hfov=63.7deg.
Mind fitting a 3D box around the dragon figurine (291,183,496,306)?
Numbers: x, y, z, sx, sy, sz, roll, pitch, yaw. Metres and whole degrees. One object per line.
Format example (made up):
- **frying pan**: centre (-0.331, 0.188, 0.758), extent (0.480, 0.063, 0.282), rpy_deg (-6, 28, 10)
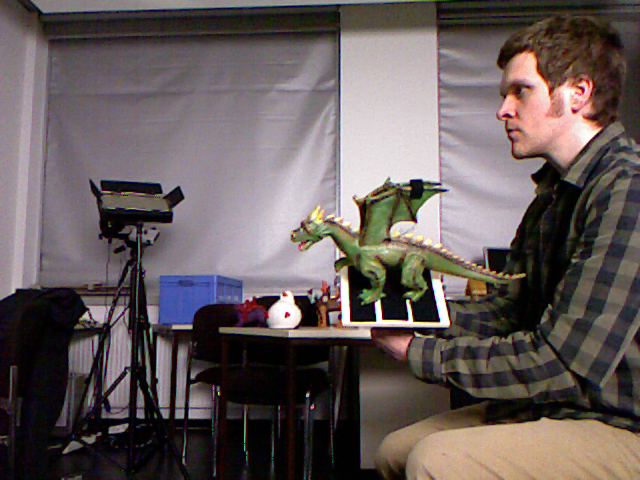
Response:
- **dragon figurine**: centre (0.151, 0.000, 0.967), extent (0.411, 0.237, 0.125), rpy_deg (-4, 44, -5)
